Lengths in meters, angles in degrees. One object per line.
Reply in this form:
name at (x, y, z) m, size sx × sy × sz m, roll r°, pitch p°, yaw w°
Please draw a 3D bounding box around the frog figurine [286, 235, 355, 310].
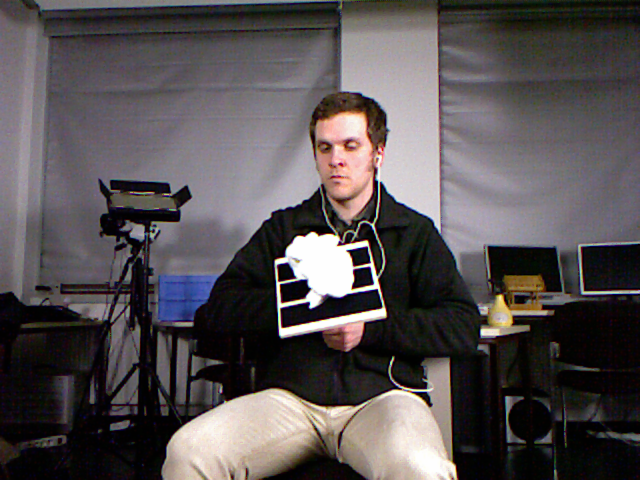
frog figurine at (0.003, 0.042, 0.967) m, size 0.123 × 0.141 × 0.156 m, roll 10°, pitch -38°, yaw 21°
